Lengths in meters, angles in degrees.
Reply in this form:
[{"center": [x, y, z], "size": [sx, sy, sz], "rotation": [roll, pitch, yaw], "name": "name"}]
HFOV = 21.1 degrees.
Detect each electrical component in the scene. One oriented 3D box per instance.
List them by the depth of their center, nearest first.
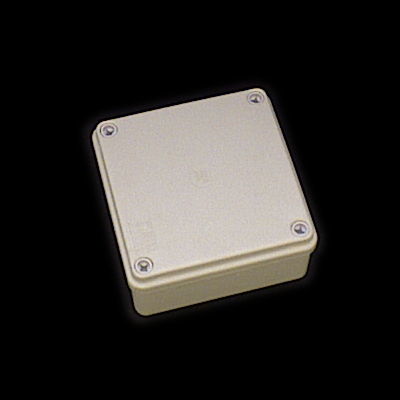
[{"center": [0.000, 0.000, 0.630], "size": [0.109, 0.108, 0.056], "rotation": [-13, -27, -7], "name": "electrical component"}]
